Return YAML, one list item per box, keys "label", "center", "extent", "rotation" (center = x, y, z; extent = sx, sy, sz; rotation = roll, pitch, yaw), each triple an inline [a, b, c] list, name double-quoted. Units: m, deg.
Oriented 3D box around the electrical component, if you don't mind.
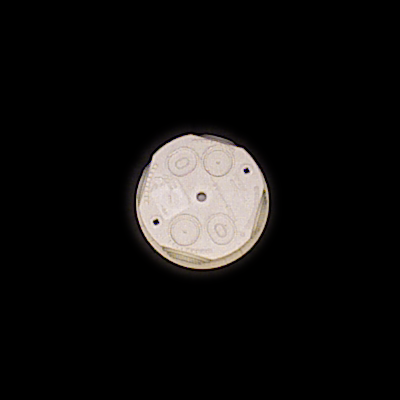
- label: "electrical component"
  center: [0.000, 0.000, 0.633]
  extent: [0.080, 0.080, 0.050]
  rotation: [0, -6, 1]
